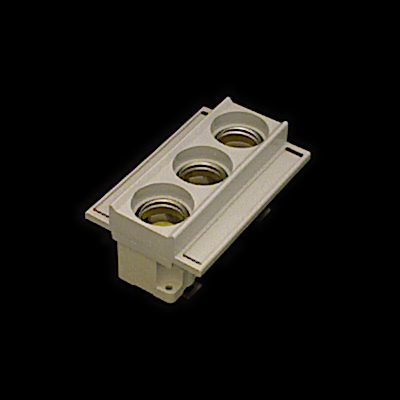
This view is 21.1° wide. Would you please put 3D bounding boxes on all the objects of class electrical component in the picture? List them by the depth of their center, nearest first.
[{"bbox_3d":[0.000,0.000,0.643,0.078,0.064,0.120,26,48,23],"label":"electrical component"}]
